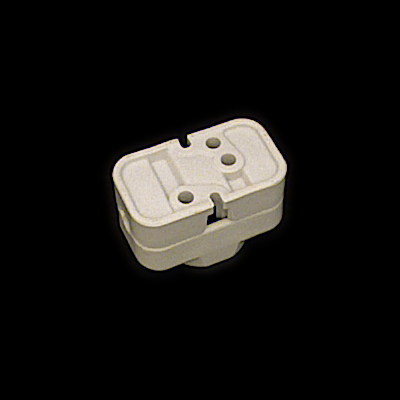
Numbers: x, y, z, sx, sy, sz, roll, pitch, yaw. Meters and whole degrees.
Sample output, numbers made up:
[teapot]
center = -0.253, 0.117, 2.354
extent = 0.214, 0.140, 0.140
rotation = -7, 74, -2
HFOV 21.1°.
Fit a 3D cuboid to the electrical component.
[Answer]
[electrical component]
center = 0.000, 0.000, 0.636
extent = 0.096, 0.053, 0.059
rotation = -20, -35, -14
